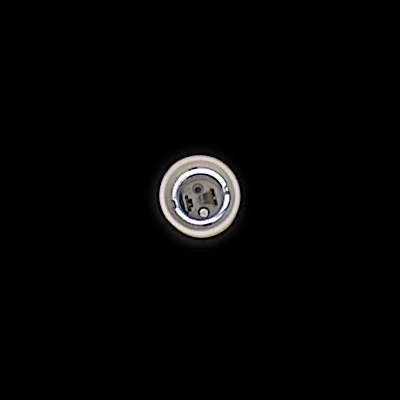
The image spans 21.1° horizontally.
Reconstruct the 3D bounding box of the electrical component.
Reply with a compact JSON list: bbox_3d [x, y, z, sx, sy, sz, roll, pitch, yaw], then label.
[{"bbox_3d":[0.000,0.000,0.629,0.045,0.045,0.055,0,-6,1],"label":"electrical component"}]
